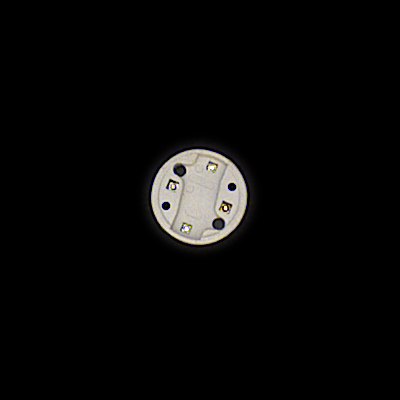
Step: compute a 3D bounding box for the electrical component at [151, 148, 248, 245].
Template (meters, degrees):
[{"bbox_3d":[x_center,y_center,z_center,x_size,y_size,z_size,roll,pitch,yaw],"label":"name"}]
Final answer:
[{"bbox_3d":[0.000,0.000,0.636,0.055,0.055,0.047,0,-6,0],"label":"electrical component"}]
